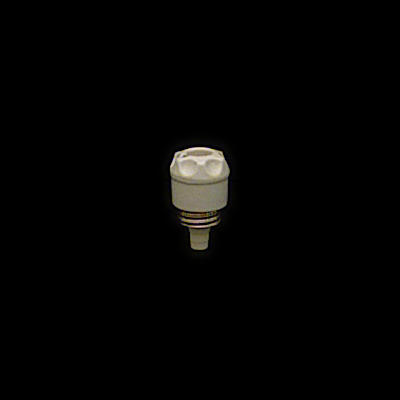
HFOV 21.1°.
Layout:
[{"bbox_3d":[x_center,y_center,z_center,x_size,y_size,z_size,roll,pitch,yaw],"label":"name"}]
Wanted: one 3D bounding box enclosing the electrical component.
[{"bbox_3d":[0.000,0.000,0.645,0.035,0.062,0.035,1,22,0],"label":"electrical component"}]
